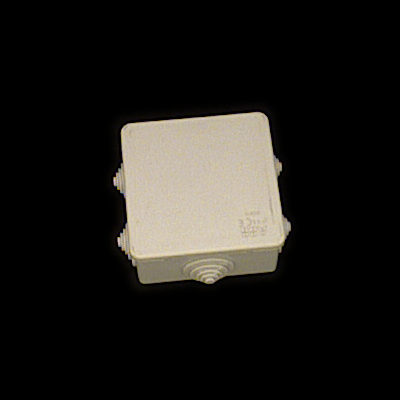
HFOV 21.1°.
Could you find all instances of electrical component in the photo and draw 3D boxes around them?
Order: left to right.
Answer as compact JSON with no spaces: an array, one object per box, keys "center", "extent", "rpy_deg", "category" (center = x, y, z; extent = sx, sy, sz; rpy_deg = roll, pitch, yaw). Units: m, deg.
[{"center":[0.000,0.000,0.640],"extent":[0.100,0.100,0.048],"rpy_deg":[-5,-26,-3],"category":"electrical component"}]
